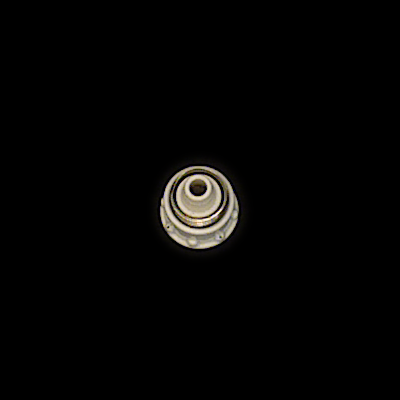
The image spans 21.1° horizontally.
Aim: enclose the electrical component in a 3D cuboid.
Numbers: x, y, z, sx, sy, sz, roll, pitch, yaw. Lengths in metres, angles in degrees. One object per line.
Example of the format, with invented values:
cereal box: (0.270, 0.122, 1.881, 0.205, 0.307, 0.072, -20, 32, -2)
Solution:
electrical component: (0.000, 0.000, 0.633, 0.048, 0.048, 0.061, 0, -15, 1)
